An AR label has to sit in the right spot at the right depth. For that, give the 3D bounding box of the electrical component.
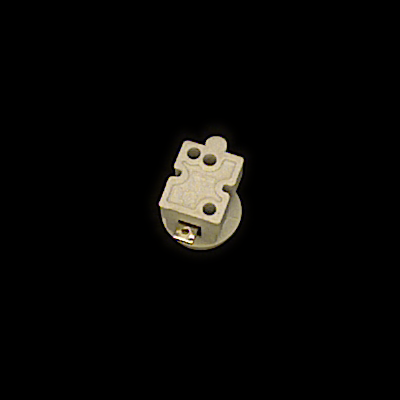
[{"bbox_3d":[0.000,0.000,0.638,0.048,0.067,0.055,18,-24,8],"label":"electrical component"}]
